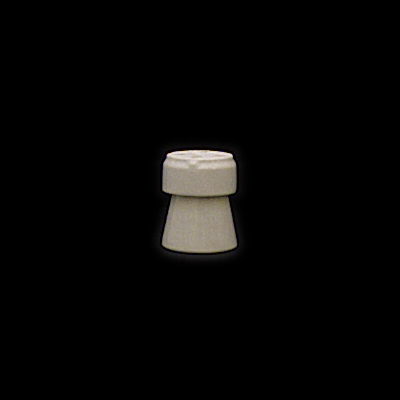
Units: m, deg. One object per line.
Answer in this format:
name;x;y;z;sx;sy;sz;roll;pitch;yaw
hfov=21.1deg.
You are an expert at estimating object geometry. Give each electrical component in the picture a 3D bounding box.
electrical component;0.000;0.000;0.645;0.045;0.055;0.044;1;11;0
